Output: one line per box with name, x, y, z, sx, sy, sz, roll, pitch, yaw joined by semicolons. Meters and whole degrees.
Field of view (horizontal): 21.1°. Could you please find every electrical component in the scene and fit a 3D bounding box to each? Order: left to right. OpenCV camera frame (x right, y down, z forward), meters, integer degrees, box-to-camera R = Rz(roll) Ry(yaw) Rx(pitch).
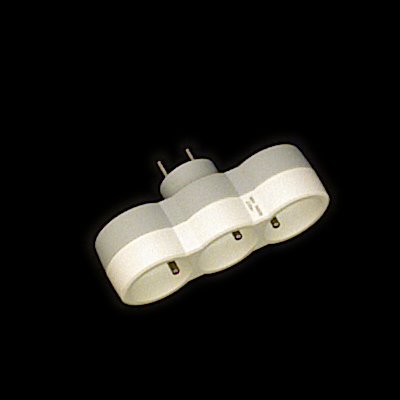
electrical component;0.000;0.000;0.639;0.139;0.073;0.052;-24;-26;-12
